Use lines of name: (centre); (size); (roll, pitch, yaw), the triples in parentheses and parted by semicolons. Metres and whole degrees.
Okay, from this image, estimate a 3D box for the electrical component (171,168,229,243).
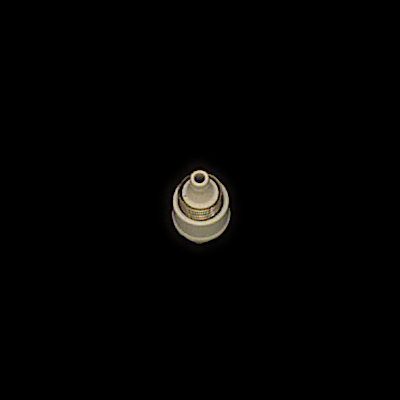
electrical component: (0.000, 0.000, 0.638); (0.035, 0.035, 0.061); (0, -25, 2)
